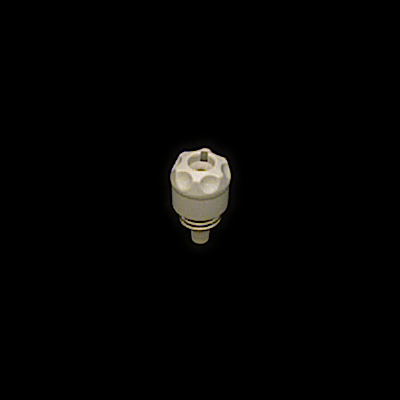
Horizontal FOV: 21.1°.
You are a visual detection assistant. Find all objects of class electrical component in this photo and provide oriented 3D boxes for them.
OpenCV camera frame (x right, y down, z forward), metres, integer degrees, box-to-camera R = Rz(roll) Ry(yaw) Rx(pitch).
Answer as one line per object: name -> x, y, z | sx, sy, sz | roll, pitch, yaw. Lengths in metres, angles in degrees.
electrical component -> 0.000, 0.000, 0.639 | 0.035, 0.062, 0.035 | 1, 42, 0
